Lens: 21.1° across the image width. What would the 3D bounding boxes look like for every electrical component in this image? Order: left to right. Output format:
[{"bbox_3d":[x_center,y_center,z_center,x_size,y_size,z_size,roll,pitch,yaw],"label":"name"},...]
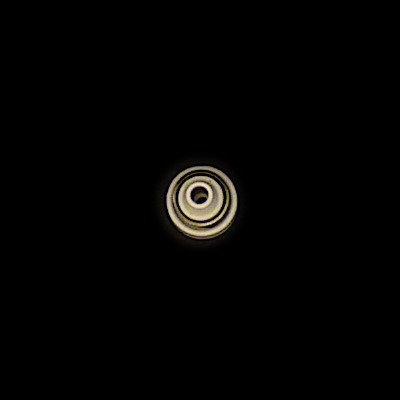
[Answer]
[{"bbox_3d":[0.000,0.000,0.635,0.043,0.043,0.062,0,-6,2],"label":"electrical component"}]
